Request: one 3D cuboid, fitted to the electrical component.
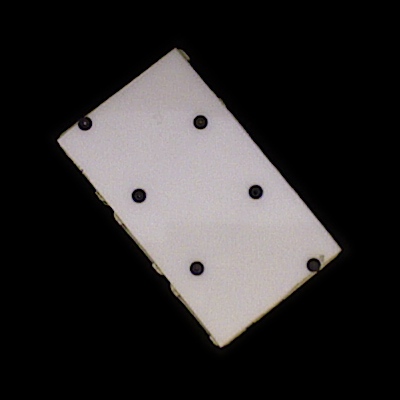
[{"bbox_3d":[0.000,0.000,0.631,0.090,0.150,0.061,-38,-5,-4],"label":"electrical component"}]
